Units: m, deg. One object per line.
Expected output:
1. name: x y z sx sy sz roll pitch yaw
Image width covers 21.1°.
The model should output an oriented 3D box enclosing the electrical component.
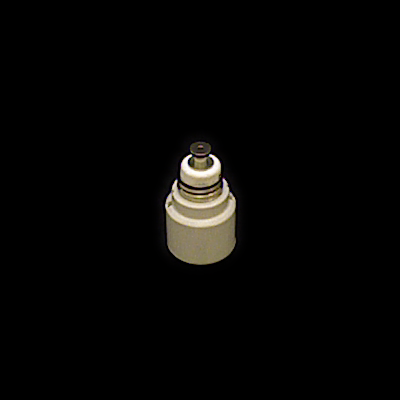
1. electrical component: 0.000 0.000 0.624 0.040 0.079 0.039 0 43 0
